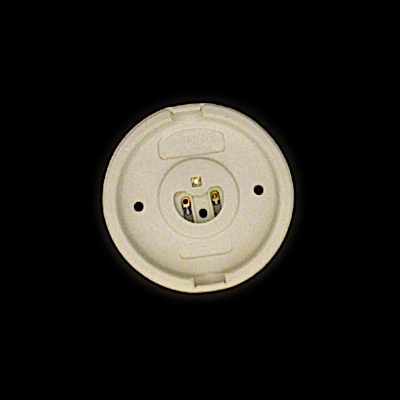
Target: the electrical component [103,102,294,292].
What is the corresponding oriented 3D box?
[{"bbox_3d":[0.000,0.000,0.635,0.108,0.108,0.060,0,-5,0],"label":"electrical component"}]
